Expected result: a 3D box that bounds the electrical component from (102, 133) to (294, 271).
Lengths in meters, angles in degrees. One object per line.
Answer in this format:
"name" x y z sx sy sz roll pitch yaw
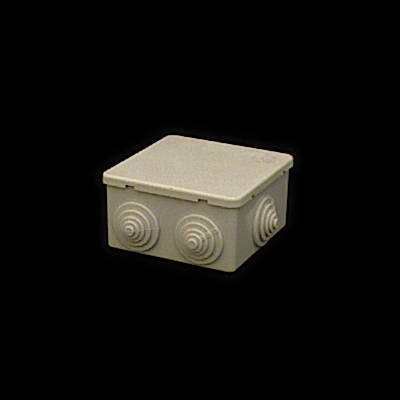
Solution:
"electrical component" 0.000 0.000 0.649 0.099 0.049 0.099 11 24 23
